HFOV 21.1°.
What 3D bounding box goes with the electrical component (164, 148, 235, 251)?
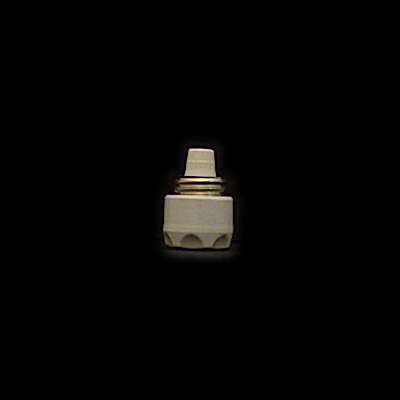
[{"bbox_3d":[0.000,0.000,0.657,0.043,0.062,0.043,2,1,0],"label":"electrical component"}]
